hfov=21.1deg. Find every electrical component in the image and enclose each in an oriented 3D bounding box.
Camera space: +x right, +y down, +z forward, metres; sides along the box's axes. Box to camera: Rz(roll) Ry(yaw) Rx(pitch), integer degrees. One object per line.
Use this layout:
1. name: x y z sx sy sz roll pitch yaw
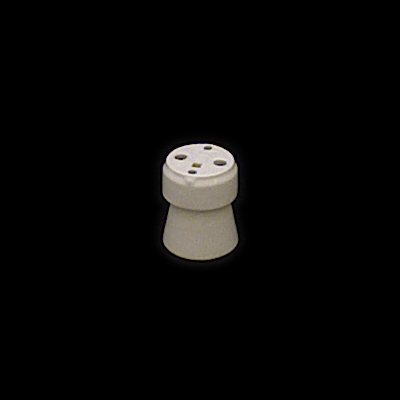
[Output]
1. electrical component: 0.000 0.000 0.636 0.045 0.056 0.044 1 31 0
